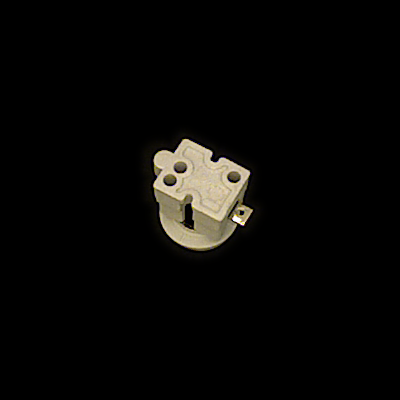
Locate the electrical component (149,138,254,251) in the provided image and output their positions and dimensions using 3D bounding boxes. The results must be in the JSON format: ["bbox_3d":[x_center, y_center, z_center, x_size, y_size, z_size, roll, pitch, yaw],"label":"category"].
[{"bbox_3d":[0.000,0.000,0.637,0.066,0.049,0.055,27,-24,12],"label":"electrical component"}]
